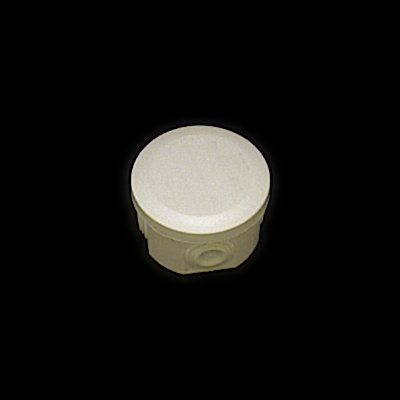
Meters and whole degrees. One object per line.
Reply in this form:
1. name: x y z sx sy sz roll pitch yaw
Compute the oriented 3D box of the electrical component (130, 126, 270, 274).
1. electrical component: 0.000 0.000 0.630 0.080 0.080 0.051 0 -38 0
